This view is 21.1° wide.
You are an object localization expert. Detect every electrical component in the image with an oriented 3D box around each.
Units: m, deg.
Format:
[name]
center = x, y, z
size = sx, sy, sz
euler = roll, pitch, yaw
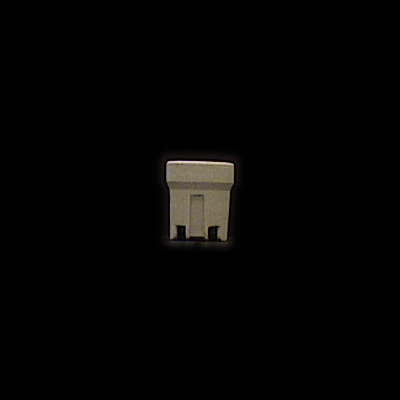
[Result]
[electrical component]
center = -0.001, 0.000, 0.647
size = 0.040, 0.046, 0.040
euler = 1, 1, 1
